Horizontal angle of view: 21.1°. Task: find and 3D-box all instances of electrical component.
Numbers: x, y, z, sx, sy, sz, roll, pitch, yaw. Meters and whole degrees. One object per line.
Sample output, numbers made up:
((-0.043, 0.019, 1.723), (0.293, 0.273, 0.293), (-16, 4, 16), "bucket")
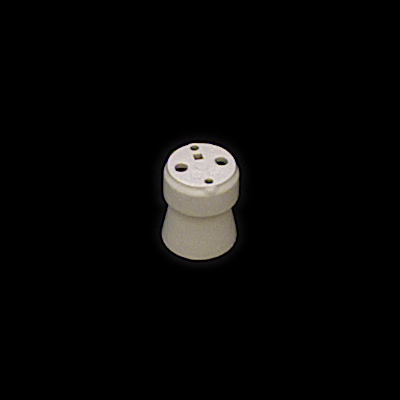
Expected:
((0.000, 0.000, 0.633), (0.045, 0.055, 0.044), (1, 42, -1), "electrical component")
